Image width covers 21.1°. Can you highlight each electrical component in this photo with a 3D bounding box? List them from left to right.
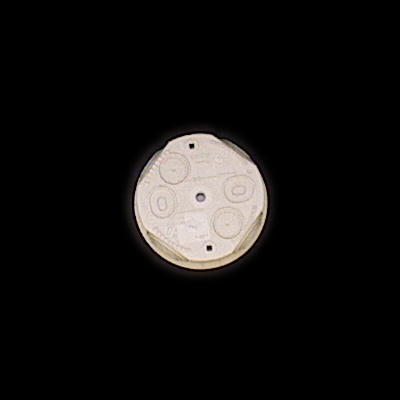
[{"bbox_3d":[0.000,0.000,0.633,0.080,0.080,0.050,0,-6,0],"label":"electrical component"}]
